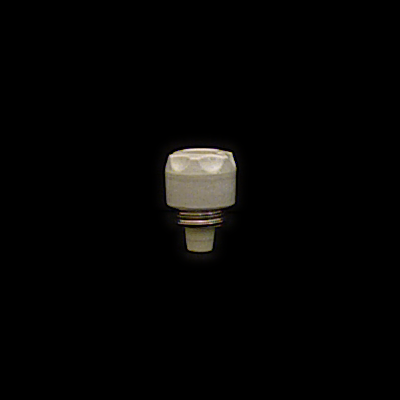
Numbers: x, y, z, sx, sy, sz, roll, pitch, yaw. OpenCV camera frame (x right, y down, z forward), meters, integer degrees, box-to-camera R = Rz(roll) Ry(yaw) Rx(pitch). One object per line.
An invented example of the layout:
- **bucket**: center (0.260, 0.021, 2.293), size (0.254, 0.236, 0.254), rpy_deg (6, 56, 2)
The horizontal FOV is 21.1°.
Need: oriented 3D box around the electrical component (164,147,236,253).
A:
- **electrical component**: center (0.000, 0.000, 0.651), size (0.043, 0.062, 0.043), rpy_deg (0, 12, 0)
